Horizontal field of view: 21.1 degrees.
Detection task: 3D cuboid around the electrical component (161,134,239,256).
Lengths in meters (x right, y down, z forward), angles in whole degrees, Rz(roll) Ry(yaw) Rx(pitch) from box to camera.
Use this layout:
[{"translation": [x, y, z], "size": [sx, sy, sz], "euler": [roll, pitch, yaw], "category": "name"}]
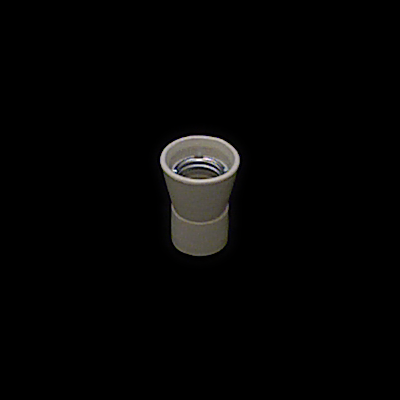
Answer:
[{"translation": [0.000, 0.000, 0.631], "size": [0.044, 0.066, 0.044], "euler": [0, 41, 0], "category": "electrical component"}]
